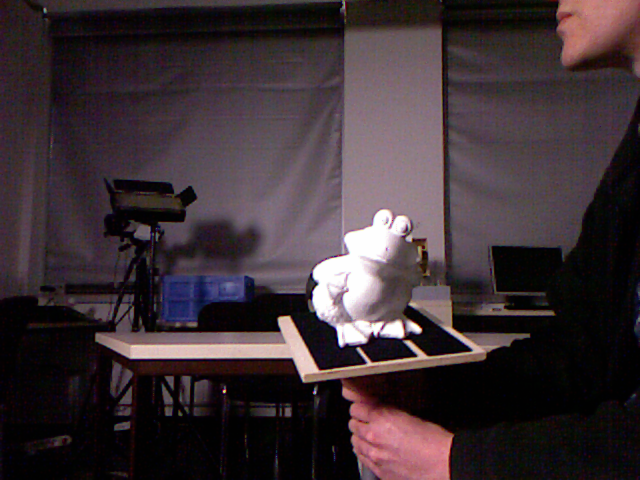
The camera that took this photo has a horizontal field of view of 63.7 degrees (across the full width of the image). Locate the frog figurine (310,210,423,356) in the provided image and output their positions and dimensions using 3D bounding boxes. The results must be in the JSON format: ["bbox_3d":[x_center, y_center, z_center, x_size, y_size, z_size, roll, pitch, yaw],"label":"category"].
[{"bbox_3d":[0.056,0.040,0.615,0.137,0.158,0.124,-2,11,-3],"label":"frog figurine"}]
